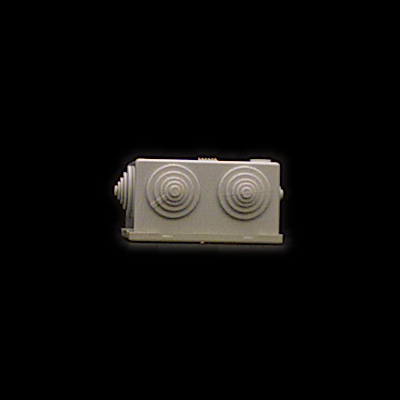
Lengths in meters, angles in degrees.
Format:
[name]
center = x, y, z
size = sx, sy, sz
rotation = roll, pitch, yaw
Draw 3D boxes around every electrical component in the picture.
[electrical component]
center = 0.000, 0.000, 0.650
size = 0.100, 0.048, 0.099
rotation = 1, 0, -8
